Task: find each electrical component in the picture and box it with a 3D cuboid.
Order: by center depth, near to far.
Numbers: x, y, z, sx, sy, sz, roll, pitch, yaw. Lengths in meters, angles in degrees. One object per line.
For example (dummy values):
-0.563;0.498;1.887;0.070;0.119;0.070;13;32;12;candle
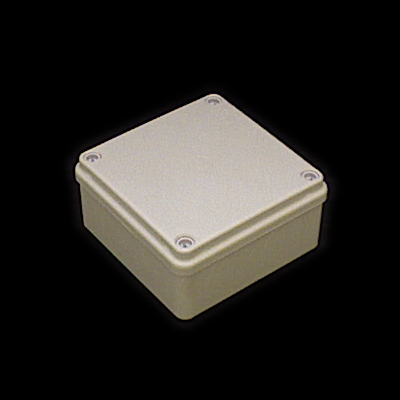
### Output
0.000;0.000;0.631;0.109;0.056;0.108;-28;49;-27;electrical component
